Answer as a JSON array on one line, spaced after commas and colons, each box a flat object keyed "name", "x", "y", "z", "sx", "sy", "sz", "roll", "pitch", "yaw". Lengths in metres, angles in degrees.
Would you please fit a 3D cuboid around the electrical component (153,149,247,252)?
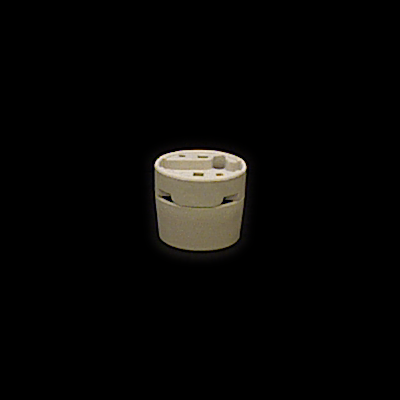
[{"name": "electrical component", "x": 0.000, "y": 0.000, "z": 0.643, "sx": 0.055, "sy": 0.047, "sz": 0.055, "roll": 1, "pitch": 22, "yaw": 0}]
